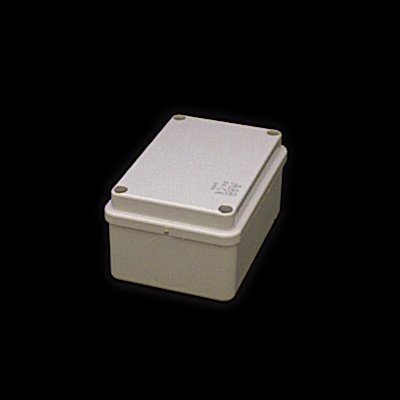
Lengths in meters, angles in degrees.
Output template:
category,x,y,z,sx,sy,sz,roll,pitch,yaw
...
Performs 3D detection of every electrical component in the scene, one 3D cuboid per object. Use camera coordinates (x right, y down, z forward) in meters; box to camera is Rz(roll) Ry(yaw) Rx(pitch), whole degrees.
category,x,y,z,sx,sy,sz,roll,pitch,yaw
electrical component,0.000,0.000,0.634,0.078,0.058,0.112,11,32,15
